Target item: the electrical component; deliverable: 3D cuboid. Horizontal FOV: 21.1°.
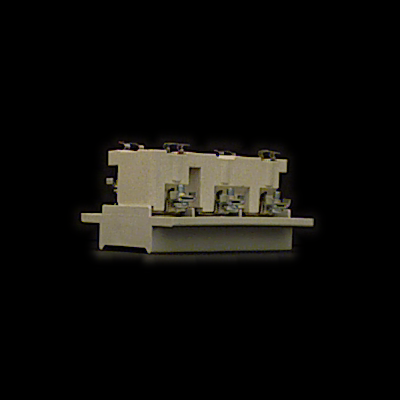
[{"bbox_3d":[0.000,0.000,0.656,0.078,0.063,0.122,3,1,44],"label":"electrical component"}]
